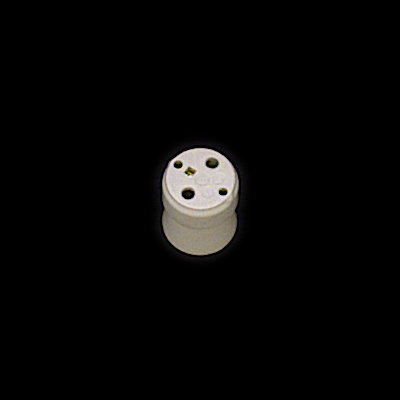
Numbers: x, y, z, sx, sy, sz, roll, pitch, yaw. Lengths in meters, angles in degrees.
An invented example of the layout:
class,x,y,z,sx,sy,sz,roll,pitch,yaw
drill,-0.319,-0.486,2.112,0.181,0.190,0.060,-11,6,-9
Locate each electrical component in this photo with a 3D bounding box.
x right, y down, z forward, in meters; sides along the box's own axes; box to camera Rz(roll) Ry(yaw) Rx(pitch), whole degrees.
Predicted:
class,x,y,z,sx,sy,sz,roll,pitch,yaw
electrical component,0.000,0.000,0.629,0.045,0.045,0.055,0,-27,-1
